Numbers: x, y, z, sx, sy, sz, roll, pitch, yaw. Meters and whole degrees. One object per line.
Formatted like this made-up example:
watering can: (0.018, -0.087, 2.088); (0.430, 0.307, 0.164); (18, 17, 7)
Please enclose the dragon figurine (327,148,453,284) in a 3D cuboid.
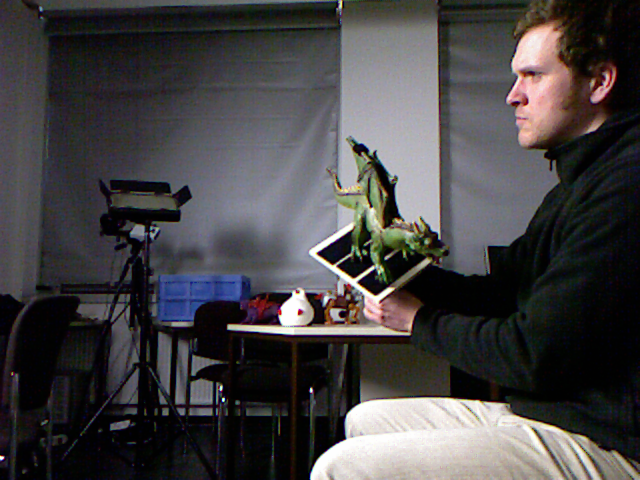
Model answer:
dragon figurine: (0.102, -0.077, 0.992); (0.123, 0.238, 0.419); (-26, 49, -17)
